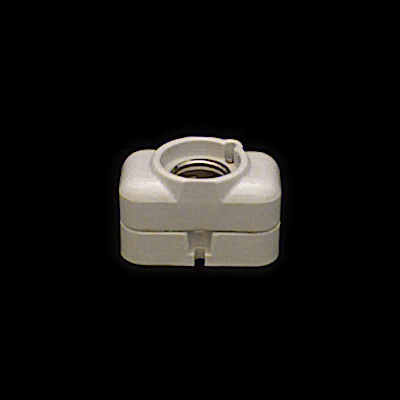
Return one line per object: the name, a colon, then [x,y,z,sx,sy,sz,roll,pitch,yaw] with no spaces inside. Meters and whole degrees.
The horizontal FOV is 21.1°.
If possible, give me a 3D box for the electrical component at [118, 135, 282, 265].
electrical component: [0.000,0.000,0.642,0.095,0.060,0.053,1,33,-1]
